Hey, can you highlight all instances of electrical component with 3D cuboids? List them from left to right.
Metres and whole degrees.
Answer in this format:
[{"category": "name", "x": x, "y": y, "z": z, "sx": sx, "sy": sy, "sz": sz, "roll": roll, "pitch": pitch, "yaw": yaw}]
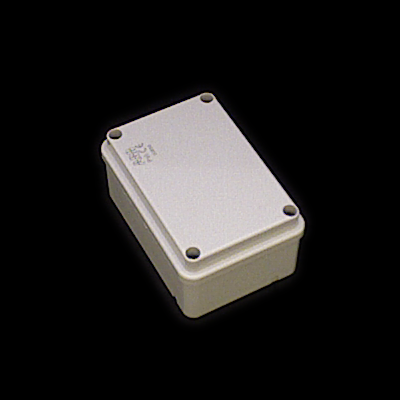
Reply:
[{"category": "electrical component", "x": 0.000, "y": 0.000, "z": 0.628, "sx": 0.078, "sy": 0.112, "sz": 0.057, "roll": -23, "pitch": -33, "yaw": -17}]
